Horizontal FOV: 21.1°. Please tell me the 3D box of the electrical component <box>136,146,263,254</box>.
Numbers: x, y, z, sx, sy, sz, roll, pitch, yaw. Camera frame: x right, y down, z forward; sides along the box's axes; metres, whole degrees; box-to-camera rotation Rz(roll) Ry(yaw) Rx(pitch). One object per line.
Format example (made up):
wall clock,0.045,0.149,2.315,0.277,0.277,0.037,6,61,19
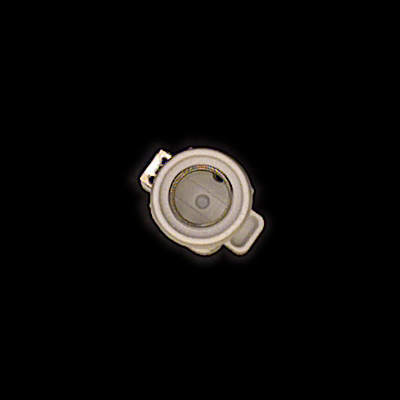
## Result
electrical component,0.000,0.000,0.630,0.078,0.058,0.056,35,-5,4
